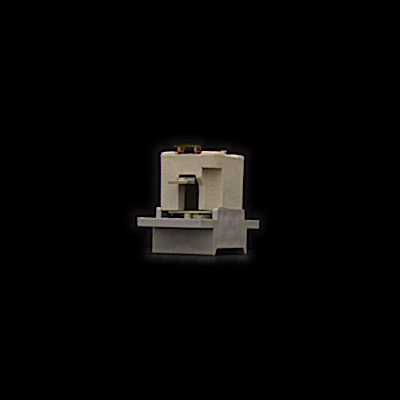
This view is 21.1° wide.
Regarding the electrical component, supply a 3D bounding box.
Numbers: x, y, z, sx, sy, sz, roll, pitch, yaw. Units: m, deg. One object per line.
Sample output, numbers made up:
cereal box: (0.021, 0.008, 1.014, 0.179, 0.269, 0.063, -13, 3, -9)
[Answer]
electrical component: (0.000, 0.000, 0.651, 0.042, 0.064, 0.081, 2, 1, 26)
